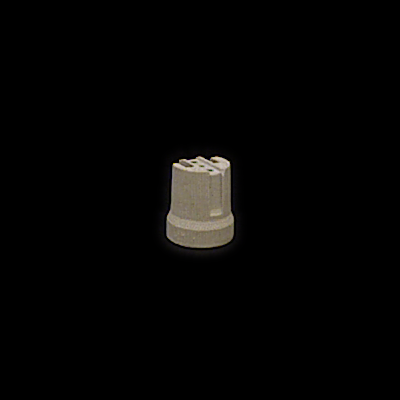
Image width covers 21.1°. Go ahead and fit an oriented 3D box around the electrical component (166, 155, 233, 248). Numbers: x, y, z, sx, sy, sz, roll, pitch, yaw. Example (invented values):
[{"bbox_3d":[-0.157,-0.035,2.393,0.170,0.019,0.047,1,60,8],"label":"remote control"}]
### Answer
[{"bbox_3d":[0.000,0.000,0.643,0.040,0.046,0.040,2,21,0],"label":"electrical component"}]
